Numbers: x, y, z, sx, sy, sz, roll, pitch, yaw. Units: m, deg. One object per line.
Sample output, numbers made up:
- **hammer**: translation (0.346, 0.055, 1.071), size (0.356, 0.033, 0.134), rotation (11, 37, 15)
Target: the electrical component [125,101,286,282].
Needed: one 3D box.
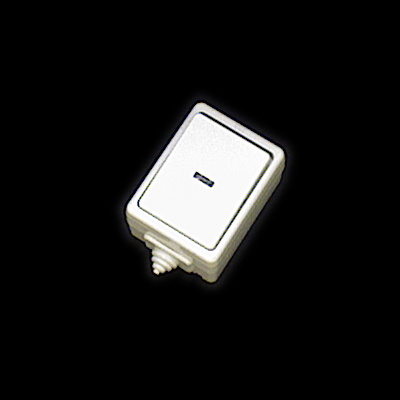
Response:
- **electrical component**: translation (0.000, 0.000, 0.625), size (0.062, 0.097, 0.060), rotation (31, -15, 9)
